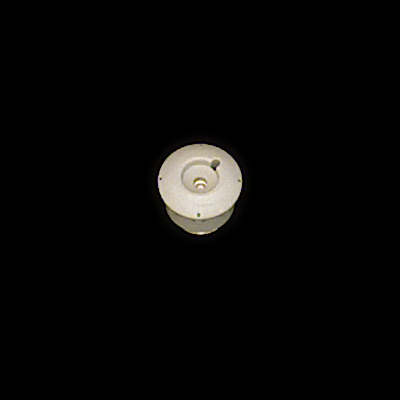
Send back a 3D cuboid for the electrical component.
[{"bbox_3d":[0.000,0.000,0.634,0.048,0.048,0.062,0,-27,0],"label":"electrical component"}]
